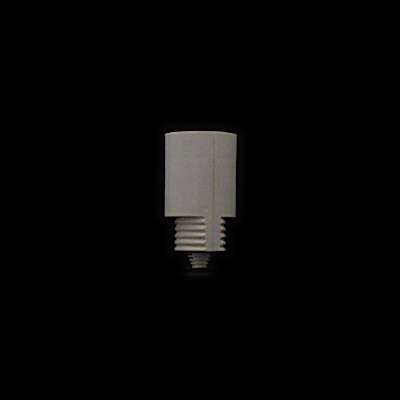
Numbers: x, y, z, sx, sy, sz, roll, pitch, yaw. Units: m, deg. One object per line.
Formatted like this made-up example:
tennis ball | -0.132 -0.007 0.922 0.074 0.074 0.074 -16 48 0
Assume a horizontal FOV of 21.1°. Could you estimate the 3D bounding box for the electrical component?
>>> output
electrical component | 0.000 0.000 0.650 0.043 0.081 0.043 2 0 0
